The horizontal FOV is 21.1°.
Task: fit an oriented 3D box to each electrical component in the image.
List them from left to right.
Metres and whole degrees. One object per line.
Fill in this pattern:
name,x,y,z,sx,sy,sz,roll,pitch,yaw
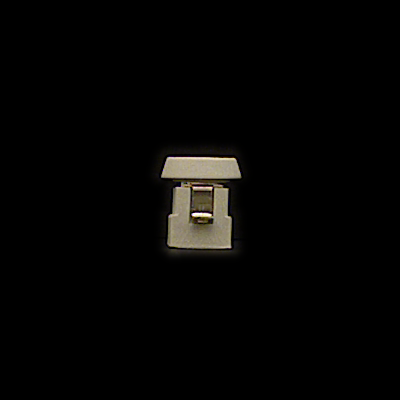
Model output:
electrical component,0.000,0.000,0.656,0.048,0.055,0.066,-1,1,-5
